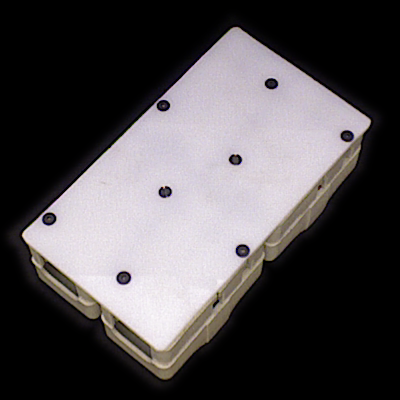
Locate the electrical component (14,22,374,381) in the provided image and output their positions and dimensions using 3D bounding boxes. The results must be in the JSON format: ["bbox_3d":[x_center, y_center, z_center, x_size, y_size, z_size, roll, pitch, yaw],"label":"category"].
[{"bbox_3d":[0.000,0.000,0.625,0.105,0.187,0.060,37,-21,17],"label":"electrical component"}]
